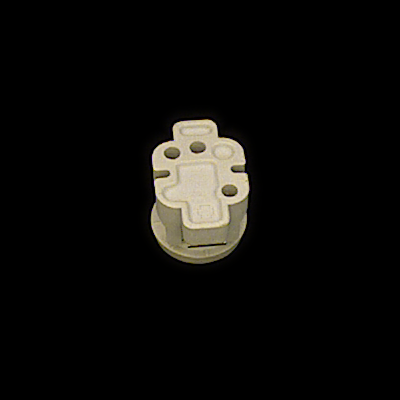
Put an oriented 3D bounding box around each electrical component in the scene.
[{"bbox_3d":[0.000,0.000,0.636,0.058,0.078,0.057,-5,-35,-5],"label":"electrical component"}]
